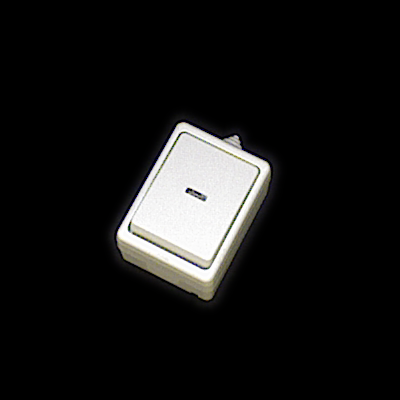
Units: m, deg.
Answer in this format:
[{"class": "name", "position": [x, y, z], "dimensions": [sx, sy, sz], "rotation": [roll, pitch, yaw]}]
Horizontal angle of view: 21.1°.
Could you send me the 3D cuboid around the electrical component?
[{"class": "electrical component", "position": [0.000, 0.000, 0.626], "dimensions": [0.062, 0.096, 0.060], "rotation": [26, -15, 8]}]
